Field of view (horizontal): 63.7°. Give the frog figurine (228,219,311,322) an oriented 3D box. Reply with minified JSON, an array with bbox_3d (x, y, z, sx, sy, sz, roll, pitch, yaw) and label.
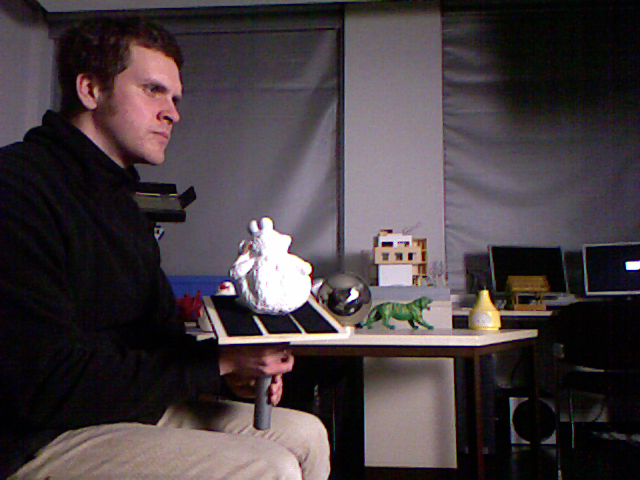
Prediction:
[{"bbox_3d":[-0.082,0.048,0.859,0.137,0.158,0.124,4,15,3],"label":"frog figurine"}]
